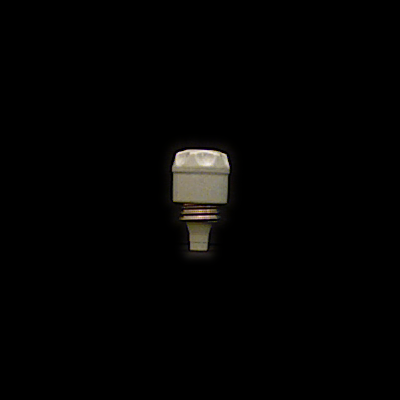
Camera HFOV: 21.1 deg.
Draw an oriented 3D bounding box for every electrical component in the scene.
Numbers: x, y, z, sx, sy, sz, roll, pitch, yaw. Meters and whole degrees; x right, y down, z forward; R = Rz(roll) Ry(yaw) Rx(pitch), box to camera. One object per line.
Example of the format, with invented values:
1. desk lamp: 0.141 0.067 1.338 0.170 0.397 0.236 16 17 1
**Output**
1. electrical component: 0.000 0.000 0.656 0.035 0.061 0.035 1 2 0
